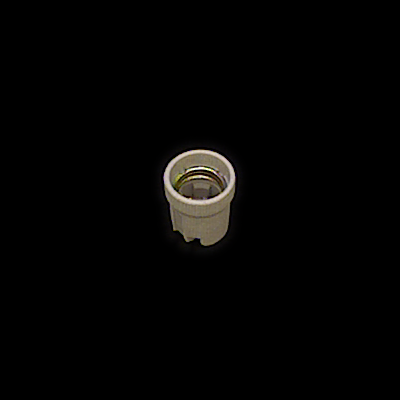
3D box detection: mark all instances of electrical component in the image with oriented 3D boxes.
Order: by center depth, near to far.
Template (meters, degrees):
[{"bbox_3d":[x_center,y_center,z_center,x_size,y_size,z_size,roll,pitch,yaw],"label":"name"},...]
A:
[{"bbox_3d":[0.000,0.000,0.629,0.040,0.040,0.046,0,-38,-1],"label":"electrical component"}]
